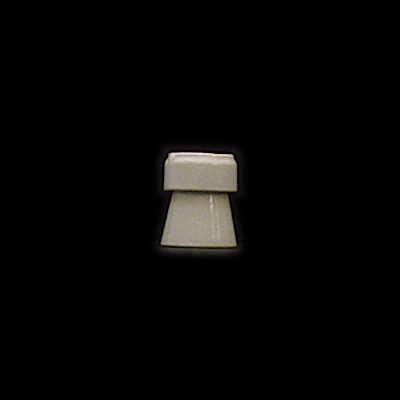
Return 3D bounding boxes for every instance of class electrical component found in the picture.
[{"bbox_3d":[0.000,0.000,0.648,0.045,0.055,0.044,1,2,0],"label":"electrical component"}]
